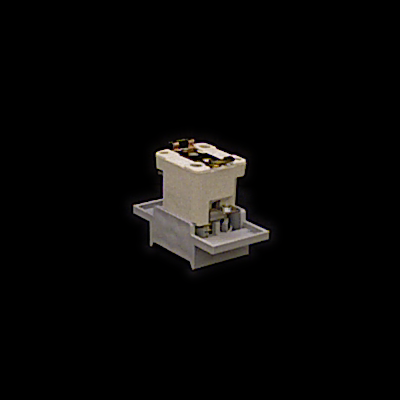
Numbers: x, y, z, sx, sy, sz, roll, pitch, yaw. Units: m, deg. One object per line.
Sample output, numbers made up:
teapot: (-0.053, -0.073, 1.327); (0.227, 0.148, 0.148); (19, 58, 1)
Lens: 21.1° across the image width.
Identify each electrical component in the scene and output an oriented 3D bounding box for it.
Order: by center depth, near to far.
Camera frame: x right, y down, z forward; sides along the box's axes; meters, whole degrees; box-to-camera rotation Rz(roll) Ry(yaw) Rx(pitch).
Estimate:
electrical component: (0.000, 0.000, 0.638); (0.042, 0.064, 0.080); (-15, 26, -35)
